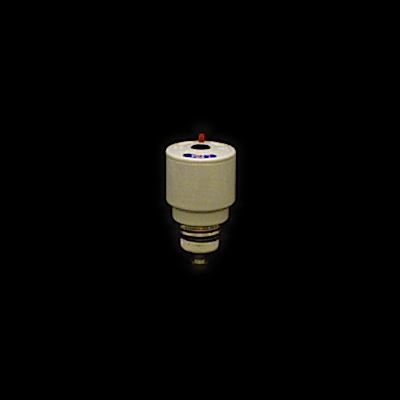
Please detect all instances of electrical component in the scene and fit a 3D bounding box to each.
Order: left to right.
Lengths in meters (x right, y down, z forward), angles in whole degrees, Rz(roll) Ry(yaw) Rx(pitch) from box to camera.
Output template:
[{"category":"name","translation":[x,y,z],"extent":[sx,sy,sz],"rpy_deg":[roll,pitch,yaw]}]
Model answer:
[{"category":"electrical component","translation":[0.000,0.000,0.638],"extent":[0.040,0.079,0.039],"rpy_deg":[1,21,0]}]
